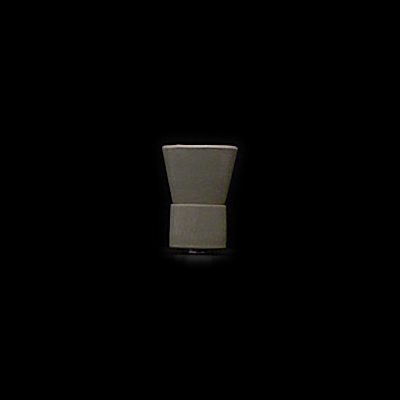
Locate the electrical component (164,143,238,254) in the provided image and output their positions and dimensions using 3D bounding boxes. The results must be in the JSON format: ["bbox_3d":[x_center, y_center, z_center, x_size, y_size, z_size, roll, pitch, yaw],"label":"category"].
[{"bbox_3d":[0.000,0.000,0.647,0.044,0.065,0.044,1,2,0],"label":"electrical component"}]
